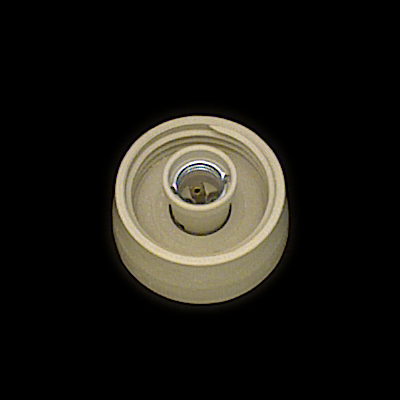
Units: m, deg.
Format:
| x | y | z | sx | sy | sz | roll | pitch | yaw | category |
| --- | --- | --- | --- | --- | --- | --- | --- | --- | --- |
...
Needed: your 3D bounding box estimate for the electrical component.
| x | y | z | sx | sy | sz | roll | pitch | yaw | category |
| --- | --- | --- | --- | --- | --- | --- | --- | --- | --- |
| 0.000 | 0.000 | 0.634 | 0.108 | 0.108 | 0.060 | 0 | -27 | 0 | electrical component |
